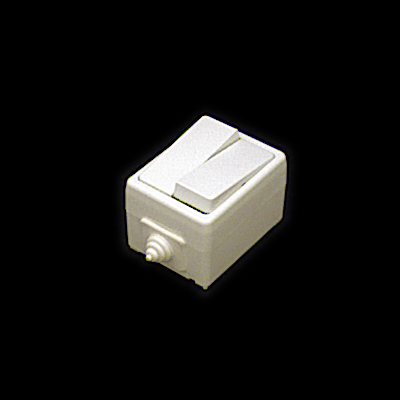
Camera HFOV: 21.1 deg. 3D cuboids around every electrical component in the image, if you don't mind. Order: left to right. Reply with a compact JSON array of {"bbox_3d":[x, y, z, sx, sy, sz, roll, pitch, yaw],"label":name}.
[{"bbox_3d":[0.000,0.000,0.629,0.061,0.061,0.096,28,48,27],"label":"electrical component"}]
